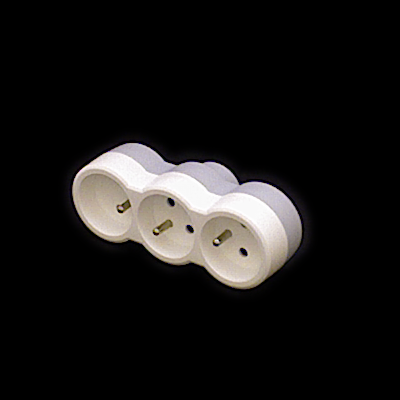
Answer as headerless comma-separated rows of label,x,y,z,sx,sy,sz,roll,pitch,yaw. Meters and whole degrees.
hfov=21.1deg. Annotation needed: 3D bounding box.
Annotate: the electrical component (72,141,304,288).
electrical component,0.000,0.000,0.638,0.137,0.053,0.073,18,34,27
